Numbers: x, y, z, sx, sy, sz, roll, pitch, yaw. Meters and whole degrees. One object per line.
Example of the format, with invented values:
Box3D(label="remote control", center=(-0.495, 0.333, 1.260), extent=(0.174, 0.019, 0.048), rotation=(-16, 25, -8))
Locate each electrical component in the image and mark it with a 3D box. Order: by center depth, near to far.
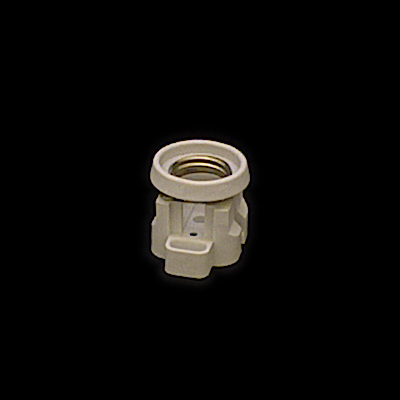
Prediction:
Box3D(label="electrical component", center=(0.000, 0.000, 0.636), extent=(0.058, 0.057, 0.077), rotation=(7, 32, 11))
